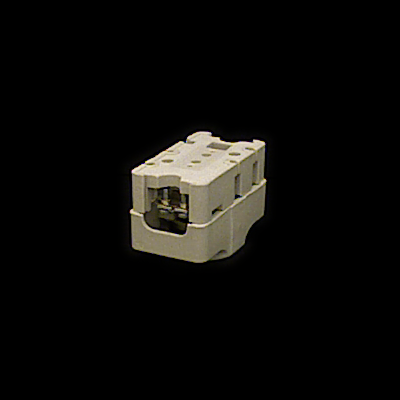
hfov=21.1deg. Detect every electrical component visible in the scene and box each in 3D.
[{"bbox_3d":[0.000,0.000,0.647,0.050,0.056,0.089,11,23,24],"label":"electrical component"}]
